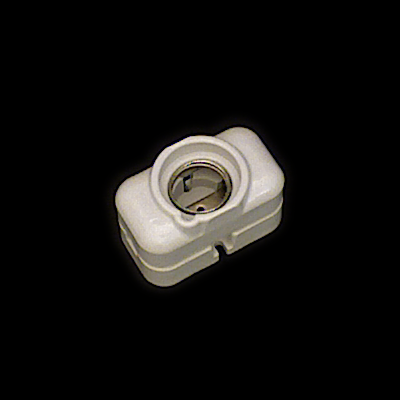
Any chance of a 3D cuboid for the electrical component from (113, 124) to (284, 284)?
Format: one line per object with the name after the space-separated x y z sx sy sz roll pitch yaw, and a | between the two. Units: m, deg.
0.000 0.000 0.633 0.095 0.053 0.059 -28 -24 -13 | electrical component
